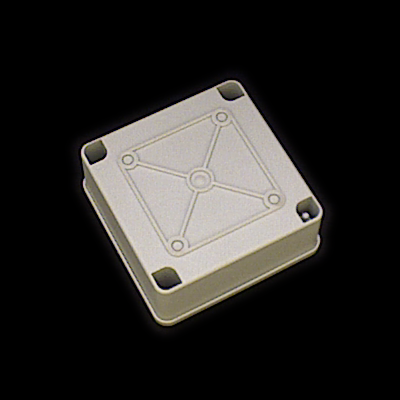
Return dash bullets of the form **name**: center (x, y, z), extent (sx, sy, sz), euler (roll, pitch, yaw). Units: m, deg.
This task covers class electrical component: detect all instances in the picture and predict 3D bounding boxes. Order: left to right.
- **electrical component**: center (0.000, 0.000, 0.628), extent (0.109, 0.108, 0.056), euler (-25, -23, -13)
